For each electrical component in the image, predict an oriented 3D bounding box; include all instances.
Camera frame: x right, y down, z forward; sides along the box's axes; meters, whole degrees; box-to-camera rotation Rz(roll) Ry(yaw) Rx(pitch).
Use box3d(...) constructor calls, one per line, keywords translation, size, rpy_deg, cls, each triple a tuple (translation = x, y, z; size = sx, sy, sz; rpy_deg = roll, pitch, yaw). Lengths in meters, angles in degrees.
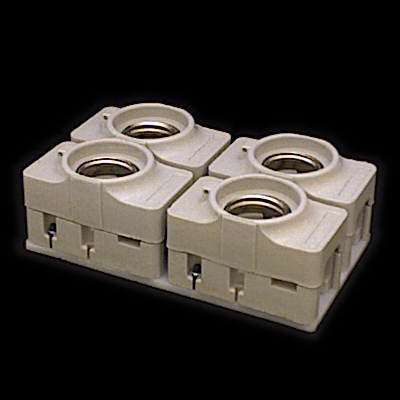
box3d(translation=(0.000, 0.000, 0.633), size=(0.185, 0.061, 0.104), rpy_deg=(14, 34, 21), cls="electrical component")
